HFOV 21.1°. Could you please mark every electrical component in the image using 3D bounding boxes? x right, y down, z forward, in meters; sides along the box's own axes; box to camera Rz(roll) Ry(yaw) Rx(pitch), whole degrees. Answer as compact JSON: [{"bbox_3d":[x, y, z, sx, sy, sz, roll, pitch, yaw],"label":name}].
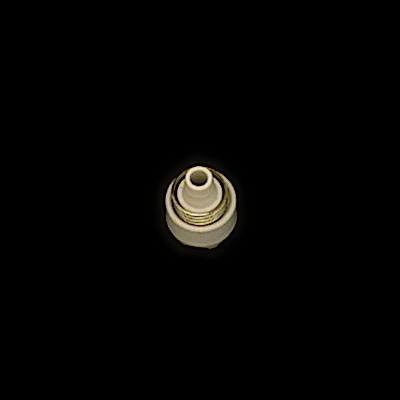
[{"bbox_3d":[0.000,0.000,0.633,0.043,0.043,0.062,0,-26,2],"label":"electrical component"}]
